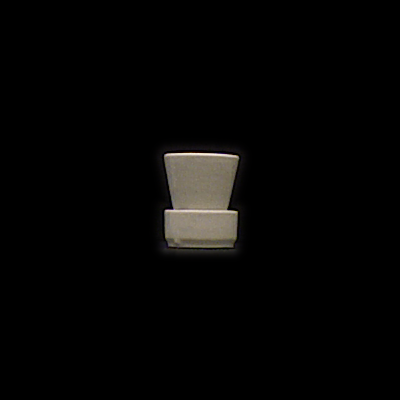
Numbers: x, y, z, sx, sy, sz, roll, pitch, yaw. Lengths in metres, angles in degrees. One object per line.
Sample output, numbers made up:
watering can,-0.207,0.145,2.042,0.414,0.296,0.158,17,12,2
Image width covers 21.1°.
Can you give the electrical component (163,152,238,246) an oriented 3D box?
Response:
electrical component,0.000,0.000,0.649,0.045,0.055,0.045,1,0,0
